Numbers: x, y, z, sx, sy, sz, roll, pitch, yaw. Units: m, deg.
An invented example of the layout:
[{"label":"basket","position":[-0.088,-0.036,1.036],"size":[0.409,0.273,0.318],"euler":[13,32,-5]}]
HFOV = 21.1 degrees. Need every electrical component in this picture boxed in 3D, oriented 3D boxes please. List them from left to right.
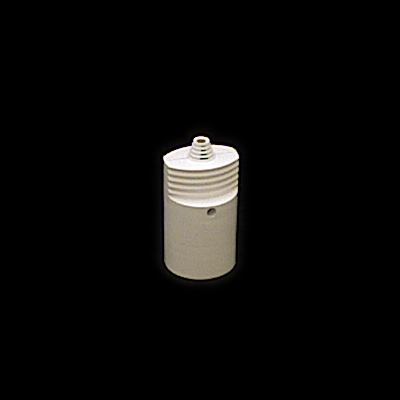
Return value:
[{"label":"electrical component","position":[0.000,0.000,0.628],"size":[0.043,0.082,0.042],"euler":[1,31,0]}]
